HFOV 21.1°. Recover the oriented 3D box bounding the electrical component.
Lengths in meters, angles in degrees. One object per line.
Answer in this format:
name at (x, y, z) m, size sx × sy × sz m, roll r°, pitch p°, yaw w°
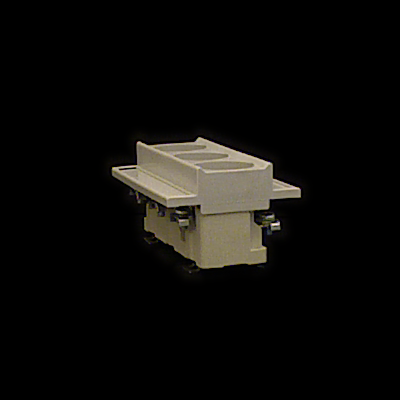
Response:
electrical component at (0.000, 0.000, 0.655) m, size 0.079 × 0.063 × 0.120 m, roll -4°, pitch 12°, yaw -18°
